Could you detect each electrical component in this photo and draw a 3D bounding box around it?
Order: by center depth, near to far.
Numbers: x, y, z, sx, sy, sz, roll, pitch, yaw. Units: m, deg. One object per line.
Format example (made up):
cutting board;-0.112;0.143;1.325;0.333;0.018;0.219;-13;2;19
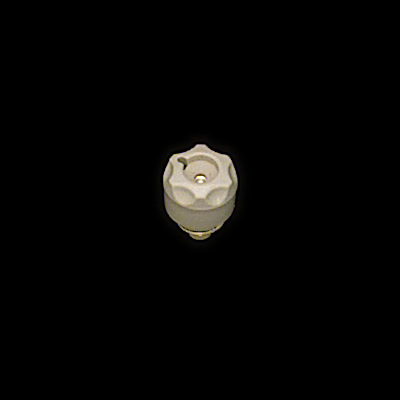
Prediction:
electrical component;0.000;0.000;0.635;0.043;0.043;0.062;0;-37;-1
